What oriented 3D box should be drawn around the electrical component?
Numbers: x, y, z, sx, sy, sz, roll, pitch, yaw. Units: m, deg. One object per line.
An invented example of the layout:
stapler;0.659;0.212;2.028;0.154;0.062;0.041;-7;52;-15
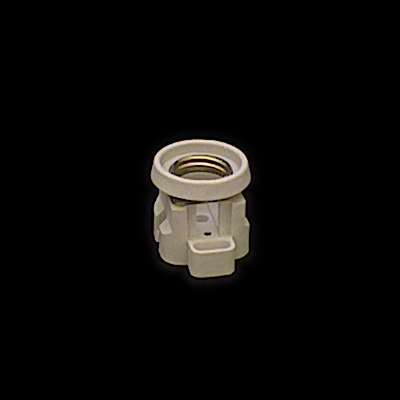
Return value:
electrical component;0.000;0.000;0.636;0.058;0.057;0.077;-6;32;-11
